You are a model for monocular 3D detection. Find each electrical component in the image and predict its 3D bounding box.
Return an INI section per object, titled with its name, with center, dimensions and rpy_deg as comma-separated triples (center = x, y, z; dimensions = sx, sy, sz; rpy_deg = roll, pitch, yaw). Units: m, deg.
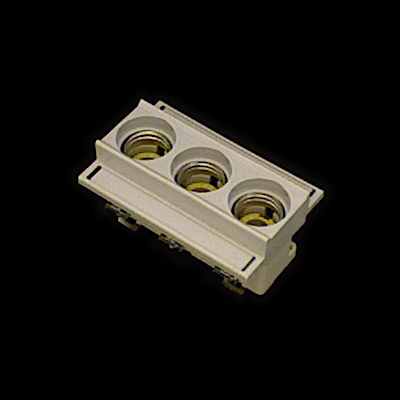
[electrical component]
center = 0.000, 0.000, 0.640
dimensions = 0.120, 0.078, 0.063
rpy_deg = 31, -33, 21
